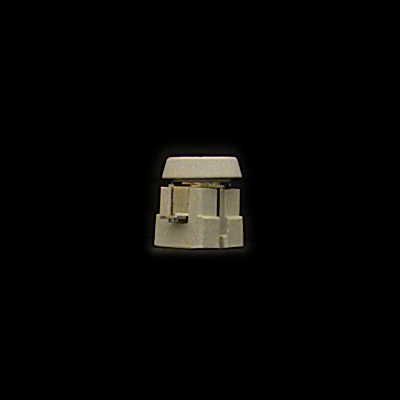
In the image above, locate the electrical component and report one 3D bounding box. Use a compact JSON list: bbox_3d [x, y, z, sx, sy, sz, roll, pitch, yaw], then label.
[{"bbox_3d":[0.000,0.000,0.656,0.048,0.055,0.067,0,0,35],"label":"electrical component"}]
